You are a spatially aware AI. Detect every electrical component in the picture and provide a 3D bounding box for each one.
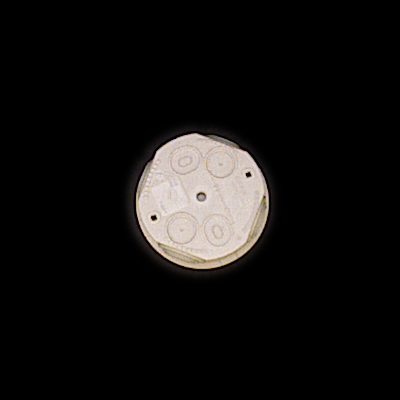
[{"bbox_3d":[0.000,0.000,0.633,0.080,0.080,0.050,0,-6,1],"label":"electrical component"}]
